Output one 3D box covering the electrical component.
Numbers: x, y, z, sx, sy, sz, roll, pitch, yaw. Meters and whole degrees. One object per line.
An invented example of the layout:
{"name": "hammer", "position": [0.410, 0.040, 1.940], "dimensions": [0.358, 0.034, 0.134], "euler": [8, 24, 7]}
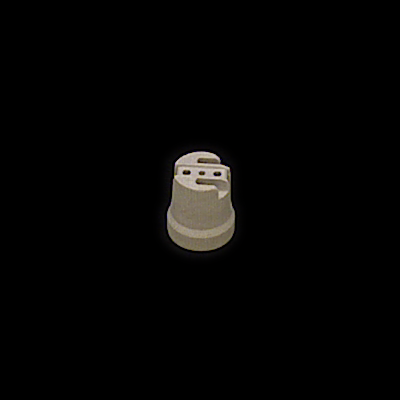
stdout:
{"name": "electrical component", "position": [0.000, 0.000, 0.635], "dimensions": [0.040, 0.046, 0.040], "euler": [0, 43, 0]}
